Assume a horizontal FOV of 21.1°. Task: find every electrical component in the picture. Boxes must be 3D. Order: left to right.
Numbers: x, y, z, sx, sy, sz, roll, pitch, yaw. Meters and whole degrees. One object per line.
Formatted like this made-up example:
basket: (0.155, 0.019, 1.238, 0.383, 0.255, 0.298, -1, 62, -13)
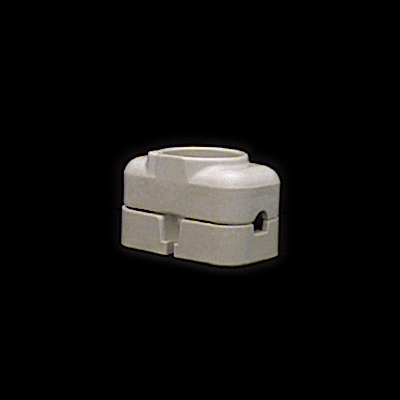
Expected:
electrical component: (0.000, 0.000, 0.650, 0.094, 0.060, 0.054, 10, 14, 38)
